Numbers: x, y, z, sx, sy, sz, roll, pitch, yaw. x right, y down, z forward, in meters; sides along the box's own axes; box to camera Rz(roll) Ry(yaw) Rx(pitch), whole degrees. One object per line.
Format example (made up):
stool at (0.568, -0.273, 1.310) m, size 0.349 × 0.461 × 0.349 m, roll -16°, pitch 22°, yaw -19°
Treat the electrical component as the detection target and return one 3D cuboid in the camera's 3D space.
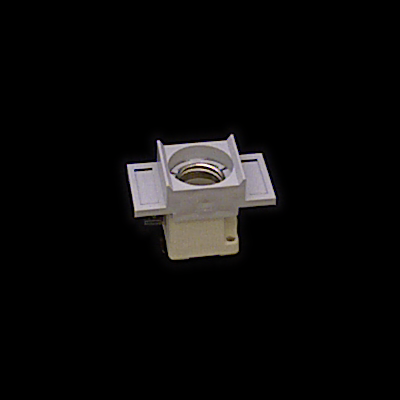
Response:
electrical component at (0.000, 0.000, 0.628) m, size 0.081 × 0.064 × 0.041 m, roll -5°, pitch 43°, yaw -7°
